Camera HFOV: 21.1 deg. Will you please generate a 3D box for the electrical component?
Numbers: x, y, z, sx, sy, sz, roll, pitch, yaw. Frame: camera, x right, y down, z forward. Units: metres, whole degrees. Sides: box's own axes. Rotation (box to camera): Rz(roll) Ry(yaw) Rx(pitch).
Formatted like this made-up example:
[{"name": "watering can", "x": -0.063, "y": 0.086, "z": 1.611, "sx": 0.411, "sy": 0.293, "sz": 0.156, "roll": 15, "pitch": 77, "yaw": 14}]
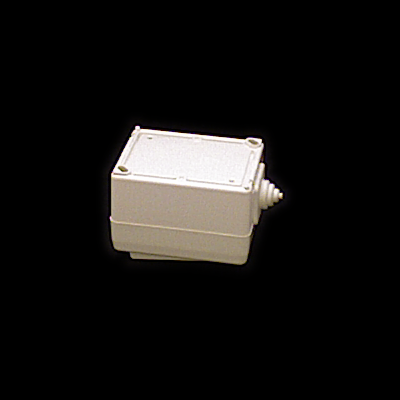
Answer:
[{"name": "electrical component", "x": 0.000, "y": 0.000, "z": 0.632, "sx": 0.096, "sy": 0.061, "sz": 0.061, "roll": 7, "pitch": 32, "yaw": 8}]
